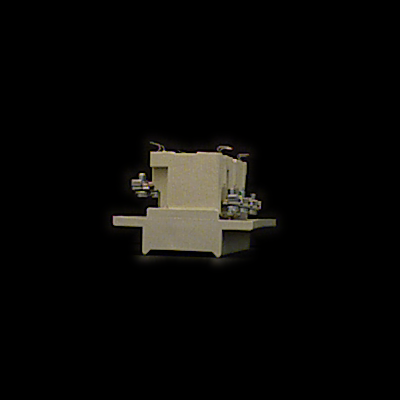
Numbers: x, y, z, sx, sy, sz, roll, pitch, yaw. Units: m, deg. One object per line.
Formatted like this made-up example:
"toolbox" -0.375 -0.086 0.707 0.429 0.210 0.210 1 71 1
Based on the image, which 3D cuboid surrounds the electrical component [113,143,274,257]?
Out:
"electrical component" 0.000 0.000 0.658 0.078 0.063 0.121 2 1 10
